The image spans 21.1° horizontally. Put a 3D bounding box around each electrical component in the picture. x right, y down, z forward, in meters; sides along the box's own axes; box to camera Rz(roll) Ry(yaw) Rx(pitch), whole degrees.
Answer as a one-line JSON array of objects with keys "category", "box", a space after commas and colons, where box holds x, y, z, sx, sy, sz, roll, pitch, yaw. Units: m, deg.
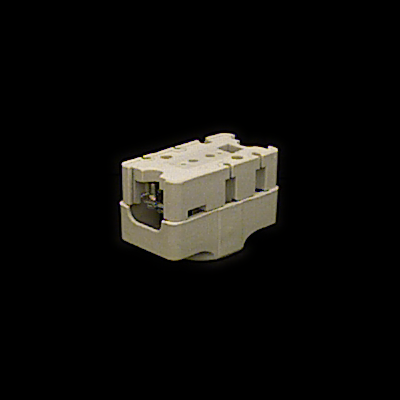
[{"category": "electrical component", "box": [0.000, 0.000, 0.647, 0.049, 0.056, 0.090, 21, 28, 41]}]
